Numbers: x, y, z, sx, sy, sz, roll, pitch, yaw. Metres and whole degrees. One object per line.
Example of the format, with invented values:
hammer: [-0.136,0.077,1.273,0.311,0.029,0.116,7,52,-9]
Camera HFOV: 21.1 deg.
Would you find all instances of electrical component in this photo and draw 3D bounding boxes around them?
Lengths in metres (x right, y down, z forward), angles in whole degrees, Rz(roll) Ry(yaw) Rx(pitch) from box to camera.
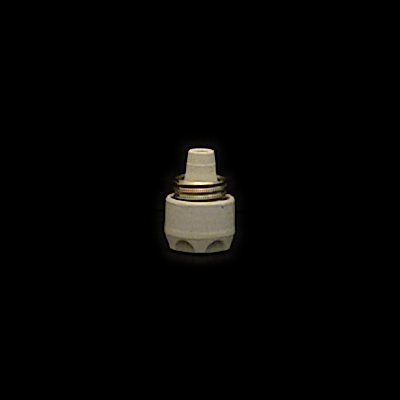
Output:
electrical component: [0.000,0.000,0.650,0.043,0.062,0.043,1,13,0]
